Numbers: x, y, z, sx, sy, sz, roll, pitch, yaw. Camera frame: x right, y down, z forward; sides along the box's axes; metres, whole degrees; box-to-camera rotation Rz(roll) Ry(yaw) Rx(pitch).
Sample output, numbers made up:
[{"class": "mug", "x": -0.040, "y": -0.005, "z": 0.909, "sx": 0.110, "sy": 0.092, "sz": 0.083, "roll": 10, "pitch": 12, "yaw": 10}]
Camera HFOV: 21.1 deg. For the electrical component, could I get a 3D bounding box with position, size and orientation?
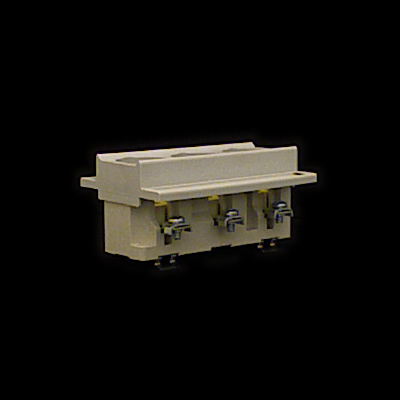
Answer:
[{"class": "electrical component", "x": 0.000, "y": 0.000, "z": 0.657, "sx": 0.122, "sy": 0.063, "sz": 0.078, "roll": -8, "pitch": 13, "yaw": -38}]
